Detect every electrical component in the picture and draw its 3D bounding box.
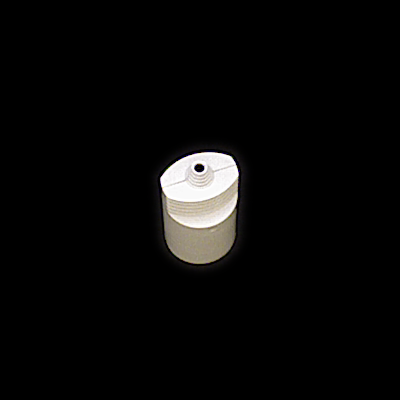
[{"bbox_3d":[0.000,0.000,0.617,0.043,0.043,0.081,0,-27,0],"label":"electrical component"}]
